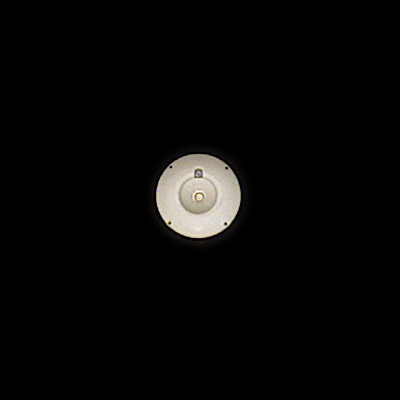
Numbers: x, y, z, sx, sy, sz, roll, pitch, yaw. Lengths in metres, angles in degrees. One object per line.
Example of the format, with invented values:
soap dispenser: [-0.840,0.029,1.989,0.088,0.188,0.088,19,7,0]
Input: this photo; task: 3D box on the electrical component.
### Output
electrical component: [0.000,0.000,0.634,0.048,0.048,0.062,0,-6,0]
